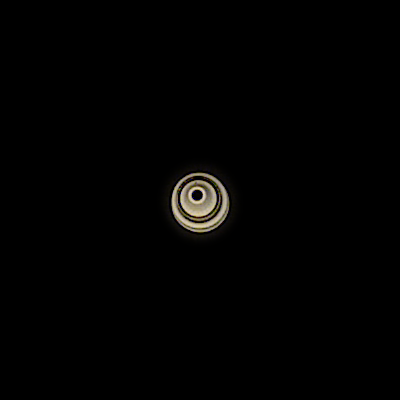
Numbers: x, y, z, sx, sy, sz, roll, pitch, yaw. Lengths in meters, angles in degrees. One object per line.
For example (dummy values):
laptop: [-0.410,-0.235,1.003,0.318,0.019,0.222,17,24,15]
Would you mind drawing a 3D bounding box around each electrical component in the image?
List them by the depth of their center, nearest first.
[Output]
electrical component: [0.000,0.000,0.637,0.035,0.035,0.061,0,-6,2]
